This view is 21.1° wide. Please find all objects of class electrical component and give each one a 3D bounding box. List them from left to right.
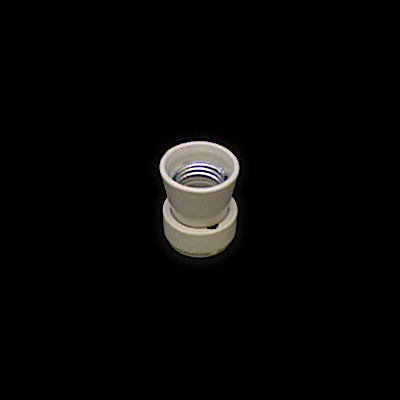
[{"bbox_3d":[0.000,0.000,0.630,0.045,0.055,0.044,0,42,0],"label":"electrical component"}]
